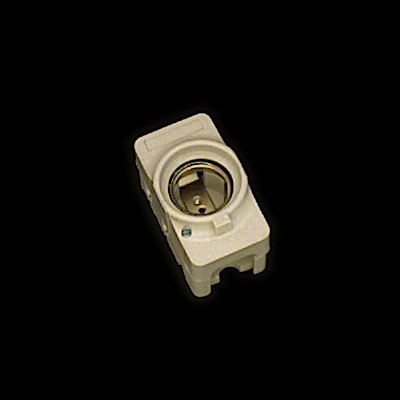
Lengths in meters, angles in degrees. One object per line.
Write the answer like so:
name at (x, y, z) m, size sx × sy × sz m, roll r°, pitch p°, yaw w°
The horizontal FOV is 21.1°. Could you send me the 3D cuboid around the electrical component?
electrical component at (0.000, 0.000, 0.635) m, size 0.050 × 0.089 × 0.055 m, roll -23°, pitch -24°, yaw -11°
